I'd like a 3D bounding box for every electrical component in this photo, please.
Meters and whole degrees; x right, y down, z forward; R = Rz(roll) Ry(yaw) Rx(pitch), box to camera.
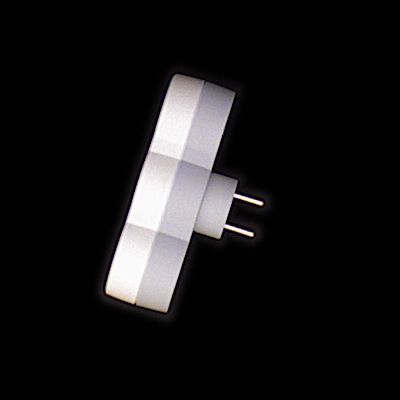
[{"bbox_3d":[0.000,0.000,0.632,0.074,0.138,0.052,17,-7,0],"label":"electrical component"}]
